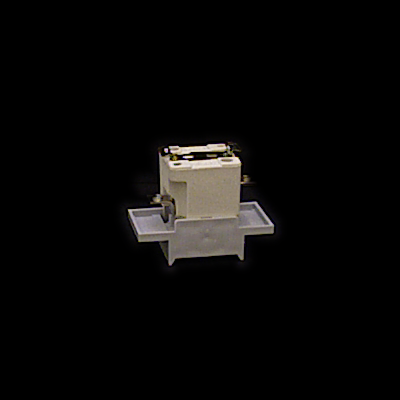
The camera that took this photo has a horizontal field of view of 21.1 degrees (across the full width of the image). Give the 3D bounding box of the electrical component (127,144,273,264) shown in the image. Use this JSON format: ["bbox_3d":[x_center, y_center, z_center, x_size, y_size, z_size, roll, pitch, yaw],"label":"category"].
[{"bbox_3d":[0.000,0.000,0.638,0.081,0.064,0.041,-3,22,-13],"label":"electrical component"}]
